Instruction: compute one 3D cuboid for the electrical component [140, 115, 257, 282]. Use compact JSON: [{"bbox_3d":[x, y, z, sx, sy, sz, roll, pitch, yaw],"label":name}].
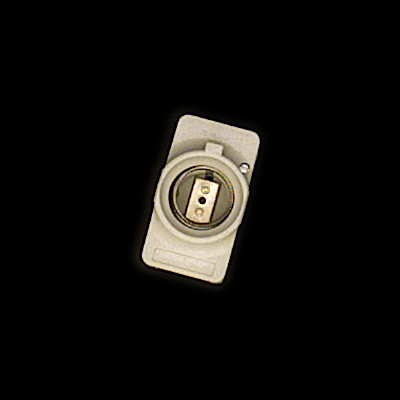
[{"bbox_3d":[0.000,0.000,0.637,0.050,0.090,0.055,15,-5,2],"label":"electrical component"}]
